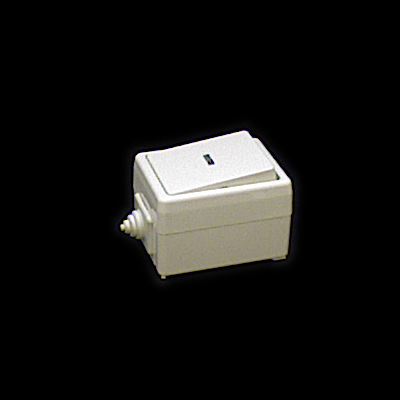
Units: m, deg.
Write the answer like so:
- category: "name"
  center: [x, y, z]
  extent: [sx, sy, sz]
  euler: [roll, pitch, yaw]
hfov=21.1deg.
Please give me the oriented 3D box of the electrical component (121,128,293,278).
- category: "electrical component"
  center: [0.000, 0.000, 0.634]
  extent: [0.096, 0.061, 0.061]
  euler: [-9, 32, -15]
